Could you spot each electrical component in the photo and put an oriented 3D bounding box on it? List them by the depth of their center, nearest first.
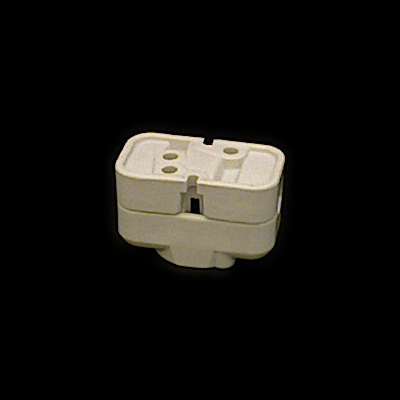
[{"bbox_3d":[0.000,0.000,0.639,0.095,0.060,0.053,7,33,8],"label":"electrical component"}]
